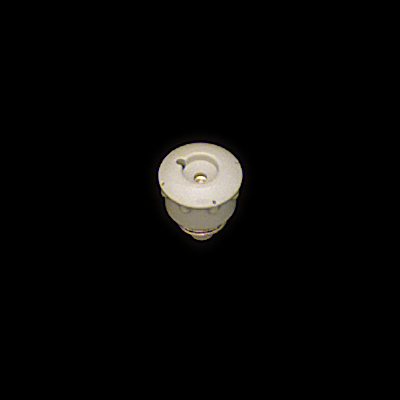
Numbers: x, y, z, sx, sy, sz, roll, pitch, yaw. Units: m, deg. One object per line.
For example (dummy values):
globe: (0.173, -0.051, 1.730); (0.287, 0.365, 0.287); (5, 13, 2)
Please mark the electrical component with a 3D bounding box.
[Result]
electrical component: (0.000, 0.000, 0.633); (0.048, 0.048, 0.062); (0, -37, 0)
